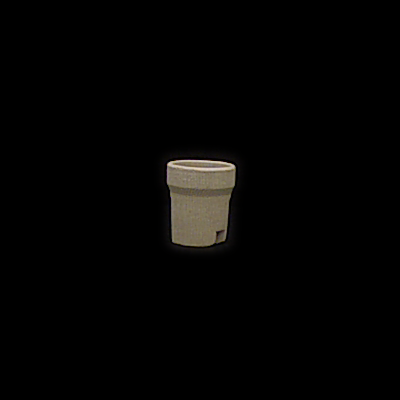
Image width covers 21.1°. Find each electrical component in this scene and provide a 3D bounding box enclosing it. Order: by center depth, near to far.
[{"bbox_3d":[0.000,0.000,0.644,0.040,0.046,0.040,1,11,0],"label":"electrical component"}]
